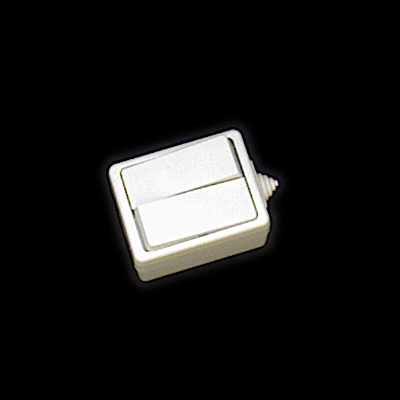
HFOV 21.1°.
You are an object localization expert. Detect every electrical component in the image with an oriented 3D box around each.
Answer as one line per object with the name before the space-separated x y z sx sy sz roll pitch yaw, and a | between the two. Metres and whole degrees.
electrical component | 0.000 0.000 0.626 0.096 0.062 0.060 -16 -16 -5
